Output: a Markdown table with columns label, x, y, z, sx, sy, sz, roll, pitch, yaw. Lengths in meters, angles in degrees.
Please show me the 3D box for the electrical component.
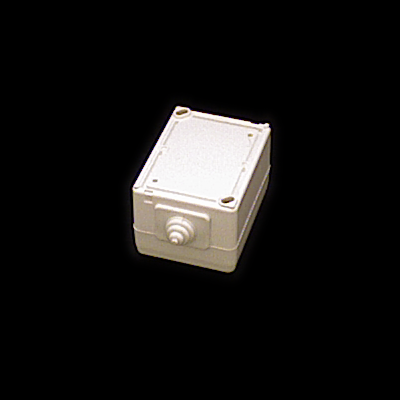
| label | x | y | z | sx | sy | sz | roll | pitch | yaw |
| --- | --- | --- | --- | --- | --- | --- | --- | --- | --- |
| electrical component | 0.000 | 0.000 | 0.631 | 0.061 | 0.061 | 0.096 | 12 | 44 | 12 |
